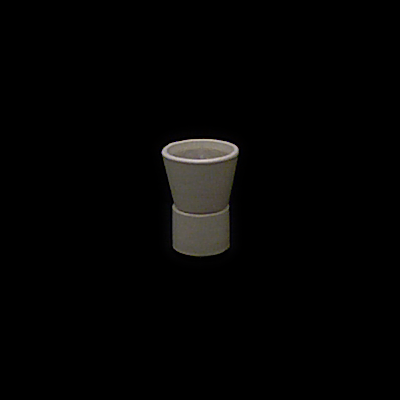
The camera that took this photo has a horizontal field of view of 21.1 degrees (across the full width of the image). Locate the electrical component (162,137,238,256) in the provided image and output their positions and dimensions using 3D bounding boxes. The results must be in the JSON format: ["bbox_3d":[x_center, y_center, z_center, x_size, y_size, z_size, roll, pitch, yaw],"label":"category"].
[{"bbox_3d":[0.000,0.000,0.637,0.044,0.066,0.044,0,22,0],"label":"electrical component"}]
